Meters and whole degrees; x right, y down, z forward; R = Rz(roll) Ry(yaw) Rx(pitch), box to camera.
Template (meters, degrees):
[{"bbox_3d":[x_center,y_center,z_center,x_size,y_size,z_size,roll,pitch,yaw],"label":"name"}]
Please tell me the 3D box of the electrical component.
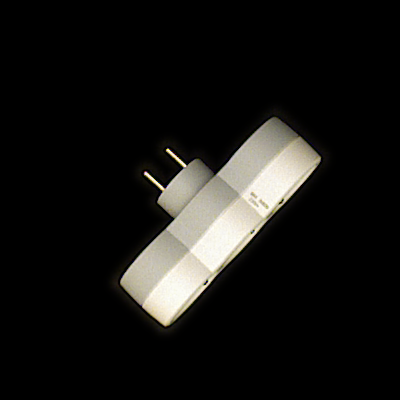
[{"bbox_3d":[0.000,0.000,0.639,0.073,0.138,0.052,43,-4,5],"label":"electrical component"}]
